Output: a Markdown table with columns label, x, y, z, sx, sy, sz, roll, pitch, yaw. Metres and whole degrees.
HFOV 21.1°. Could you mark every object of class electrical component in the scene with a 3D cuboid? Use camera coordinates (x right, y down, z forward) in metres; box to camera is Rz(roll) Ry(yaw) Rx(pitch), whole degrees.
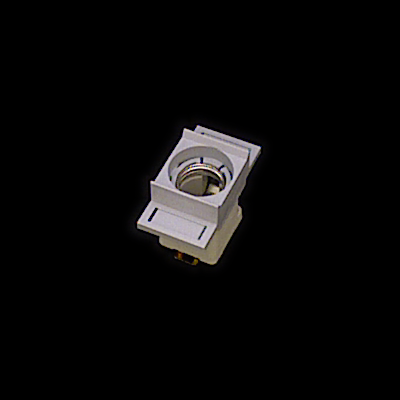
| label | x | y | z | sx | sy | sz | roll | pitch | yaw |
| --- | --- | --- | --- | --- | --- | --- | --- | --- | --- |
| electrical component | 0.000 | 0.000 | 0.628 | 0.042 | 0.080 | 0.064 | 20 | -35 | 16 |
